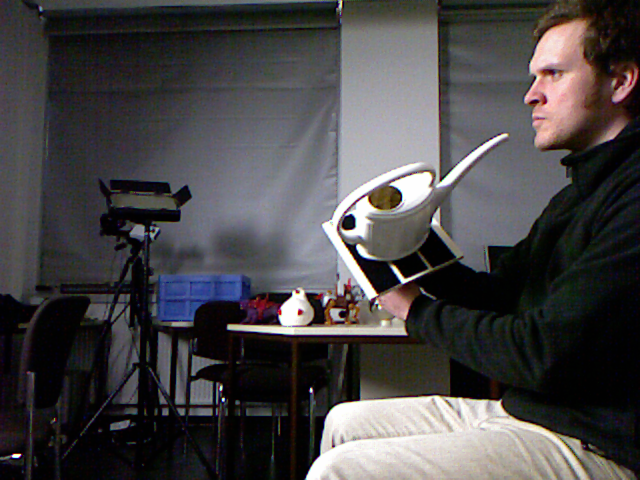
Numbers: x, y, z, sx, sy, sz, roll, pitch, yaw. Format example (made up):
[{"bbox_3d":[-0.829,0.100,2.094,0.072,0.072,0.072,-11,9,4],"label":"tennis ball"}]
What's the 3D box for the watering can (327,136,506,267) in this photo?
[{"bbox_3d":[0.178,-0.065,0.952,0.350,0.106,0.220,-21,-34,-10],"label":"watering can"}]
